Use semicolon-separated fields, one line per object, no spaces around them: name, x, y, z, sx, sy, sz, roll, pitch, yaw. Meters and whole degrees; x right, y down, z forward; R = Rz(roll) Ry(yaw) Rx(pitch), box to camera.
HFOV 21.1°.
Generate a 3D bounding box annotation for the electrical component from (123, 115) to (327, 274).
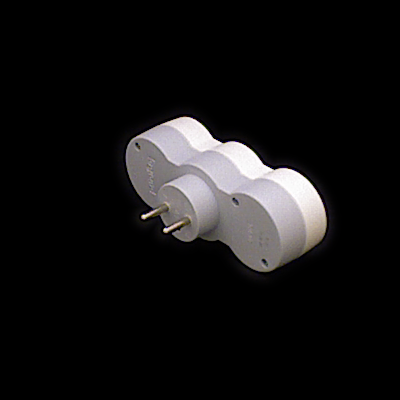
electrical component;0.000;0.000;0.635;0.073;0.053;0.137;-27;42;-35
